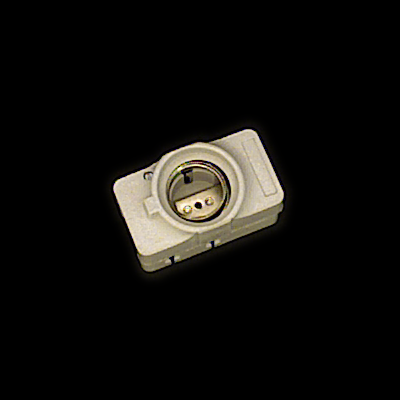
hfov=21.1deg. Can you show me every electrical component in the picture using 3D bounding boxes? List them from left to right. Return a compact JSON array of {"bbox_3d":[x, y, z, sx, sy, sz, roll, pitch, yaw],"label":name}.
[{"bbox_3d":[0.000,0.000,0.636,0.090,0.050,0.055,-22,-15,-6],"label":"electrical component"}]
